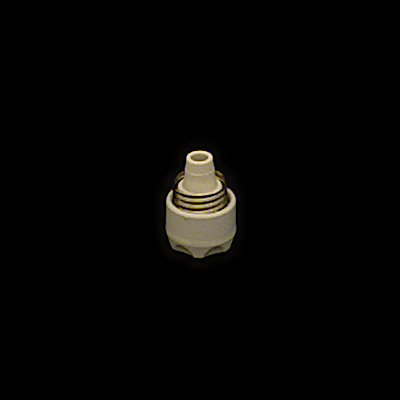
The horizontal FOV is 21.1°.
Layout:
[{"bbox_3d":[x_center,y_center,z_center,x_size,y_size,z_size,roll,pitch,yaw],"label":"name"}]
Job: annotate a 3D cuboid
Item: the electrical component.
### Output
[{"bbox_3d":[0.000,0.000,0.641,0.043,0.063,0.043,0,33,1],"label":"electrical component"}]
